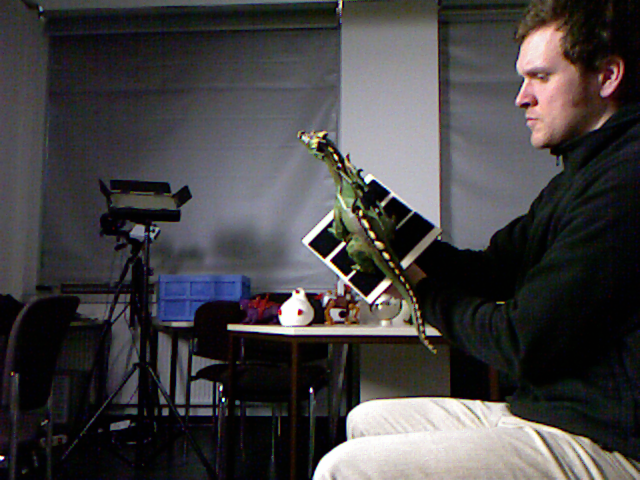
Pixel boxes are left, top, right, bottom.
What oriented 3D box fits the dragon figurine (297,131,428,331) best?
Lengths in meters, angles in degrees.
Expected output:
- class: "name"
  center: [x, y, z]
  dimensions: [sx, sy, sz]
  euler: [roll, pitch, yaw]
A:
- class: "dragon figurine"
  center: [0.084, -0.034, 0.919]
  dimensions: [0.123, 0.418, 0.240]
  euler: [-33, -21, -2]
